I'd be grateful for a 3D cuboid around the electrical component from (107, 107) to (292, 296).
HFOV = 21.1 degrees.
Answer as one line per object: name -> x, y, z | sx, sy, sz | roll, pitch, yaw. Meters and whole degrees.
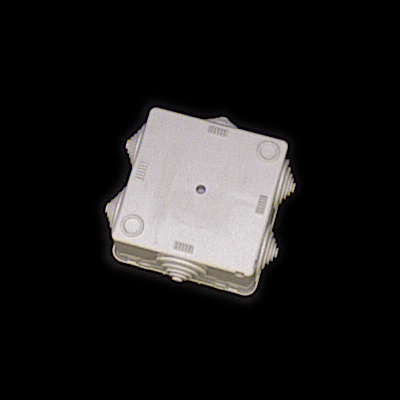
electrical component -> 0.000, 0.000, 0.631 | 0.100, 0.100, 0.048 | 15, -16, 5
